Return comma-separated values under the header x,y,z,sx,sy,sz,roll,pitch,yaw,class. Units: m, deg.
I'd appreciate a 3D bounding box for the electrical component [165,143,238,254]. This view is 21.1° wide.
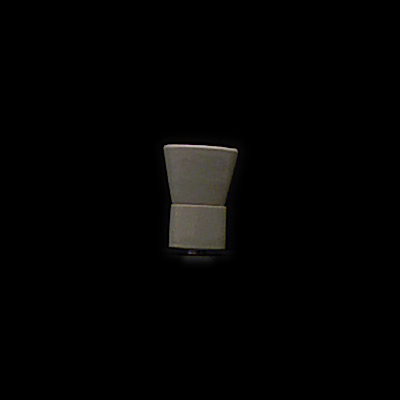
x,y,z,sx,sy,sz,roll,pitch,yaw,class
0.000,0.000,0.651,0.044,0.065,0.044,2,0,0,electrical component
